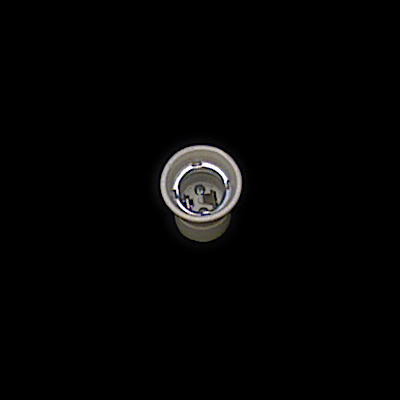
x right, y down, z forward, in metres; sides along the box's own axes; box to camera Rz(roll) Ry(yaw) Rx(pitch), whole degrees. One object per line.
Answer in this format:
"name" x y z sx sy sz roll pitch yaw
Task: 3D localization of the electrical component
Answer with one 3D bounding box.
"electrical component" 0.000 0.000 0.625 0.044 0.044 0.065 0 -18 1
